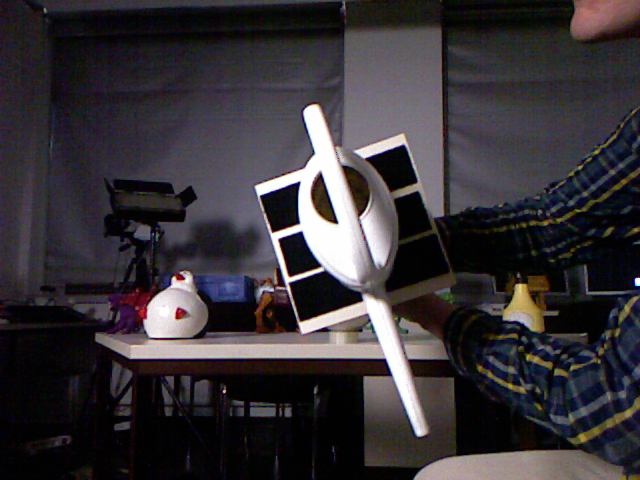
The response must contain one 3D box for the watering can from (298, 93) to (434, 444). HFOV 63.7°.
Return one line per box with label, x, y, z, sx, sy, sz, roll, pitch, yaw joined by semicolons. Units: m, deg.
watering can;0.050;0.015;0.562;0.105;0.353;0.226;-18;-6;10
